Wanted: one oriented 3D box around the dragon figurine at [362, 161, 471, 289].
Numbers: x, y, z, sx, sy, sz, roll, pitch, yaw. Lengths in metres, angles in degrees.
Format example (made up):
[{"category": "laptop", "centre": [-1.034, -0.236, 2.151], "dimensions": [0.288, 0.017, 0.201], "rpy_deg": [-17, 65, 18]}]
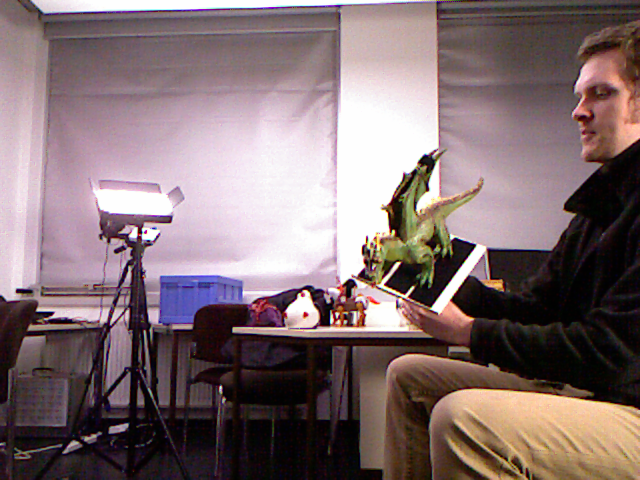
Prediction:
[{"category": "dragon figurine", "centre": [0.199, -0.049, 1.000], "dimensions": [0.123, 0.237, 0.418], "rpy_deg": [25, 56, 26]}]
